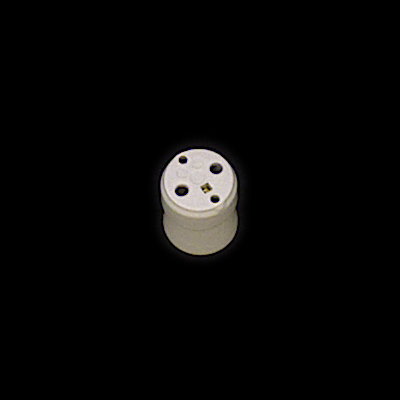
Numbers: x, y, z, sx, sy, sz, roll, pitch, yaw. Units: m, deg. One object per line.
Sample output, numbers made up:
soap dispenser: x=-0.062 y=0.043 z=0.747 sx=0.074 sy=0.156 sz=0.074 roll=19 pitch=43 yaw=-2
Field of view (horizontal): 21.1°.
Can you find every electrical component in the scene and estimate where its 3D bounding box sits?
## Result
electrical component: x=0.000 y=0.000 z=0.628 sx=0.045 sy=0.045 sz=0.055 roll=0 pitch=-27 yaw=0
